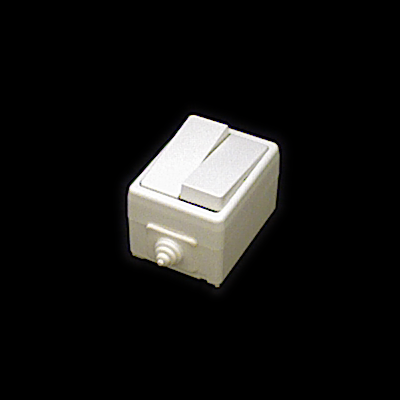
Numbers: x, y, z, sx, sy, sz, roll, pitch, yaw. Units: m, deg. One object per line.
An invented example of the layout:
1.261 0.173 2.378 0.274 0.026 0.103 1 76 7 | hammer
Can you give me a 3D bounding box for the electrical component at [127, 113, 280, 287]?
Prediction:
0.000 0.000 0.629 0.061 0.061 0.096 20 45 20 | electrical component
